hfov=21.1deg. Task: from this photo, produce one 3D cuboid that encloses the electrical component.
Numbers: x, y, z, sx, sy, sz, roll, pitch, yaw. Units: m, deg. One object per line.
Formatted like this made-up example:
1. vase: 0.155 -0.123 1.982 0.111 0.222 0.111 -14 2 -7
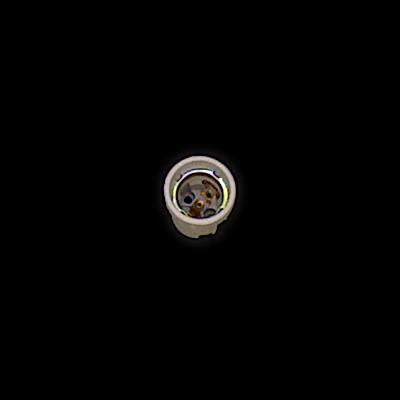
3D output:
1. electrical component: 0.000 0.000 0.626 0.040 0.040 0.046 0 -17 -1
